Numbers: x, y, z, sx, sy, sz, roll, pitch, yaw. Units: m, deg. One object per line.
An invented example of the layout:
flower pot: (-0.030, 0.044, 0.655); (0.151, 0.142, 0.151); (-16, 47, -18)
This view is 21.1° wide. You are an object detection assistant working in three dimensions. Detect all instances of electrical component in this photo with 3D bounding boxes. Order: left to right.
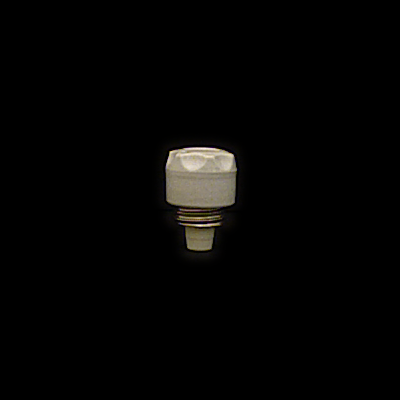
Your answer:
electrical component: (0.000, 0.000, 0.652); (0.043, 0.062, 0.043); (2, 11, 0)
